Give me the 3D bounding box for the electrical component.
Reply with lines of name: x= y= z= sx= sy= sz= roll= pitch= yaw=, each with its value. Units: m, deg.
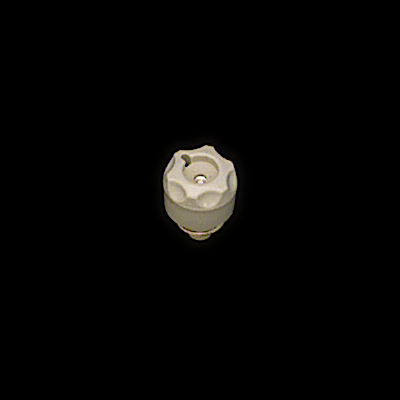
electrical component: x=0.000 y=0.000 z=0.635 sx=0.043 sy=0.043 sz=0.062 roll=0 pitch=-37 yaw=-1
